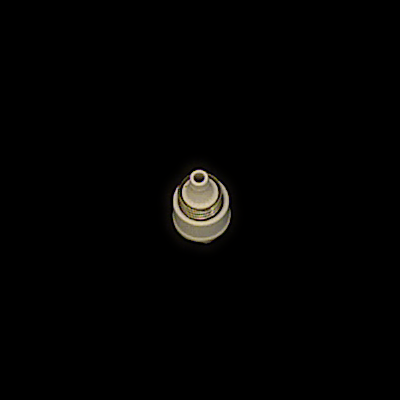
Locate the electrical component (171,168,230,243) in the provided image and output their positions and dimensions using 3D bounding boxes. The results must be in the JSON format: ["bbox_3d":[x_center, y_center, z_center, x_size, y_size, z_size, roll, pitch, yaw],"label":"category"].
[{"bbox_3d":[0.000,0.000,0.637,0.035,0.035,0.061,0,-26,2],"label":"electrical component"}]
